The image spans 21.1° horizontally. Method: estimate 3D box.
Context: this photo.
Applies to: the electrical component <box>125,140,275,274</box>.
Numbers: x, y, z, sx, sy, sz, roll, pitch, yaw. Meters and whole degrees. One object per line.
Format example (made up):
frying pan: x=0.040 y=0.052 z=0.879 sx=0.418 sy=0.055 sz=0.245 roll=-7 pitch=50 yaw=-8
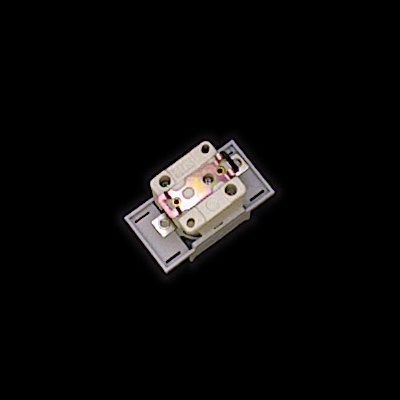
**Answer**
electrical component: x=0.000 y=0.000 z=0.625 sx=0.081 sy=0.042 sz=0.063 roll=-37 pitch=-13 yaw=-11
